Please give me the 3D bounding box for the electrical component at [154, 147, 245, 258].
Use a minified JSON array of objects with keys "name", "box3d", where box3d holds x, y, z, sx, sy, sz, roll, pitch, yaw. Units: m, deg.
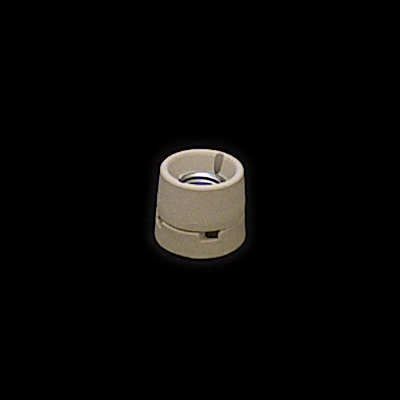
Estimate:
[{"name":"electrical component","box3d":[0.000,0.000,0.639,0.055,0.047,0.055,1,31,-1]}]
